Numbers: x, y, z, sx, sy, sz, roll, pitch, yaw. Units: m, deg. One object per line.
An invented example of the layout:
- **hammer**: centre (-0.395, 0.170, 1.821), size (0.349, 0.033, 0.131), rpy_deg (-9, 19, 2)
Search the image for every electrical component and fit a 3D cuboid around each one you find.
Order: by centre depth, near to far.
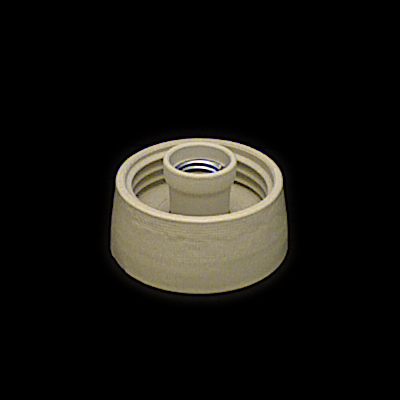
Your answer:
- **electrical component**: centre (0.000, 0.000, 0.640), size (0.108, 0.061, 0.106), rpy_deg (1, 32, 0)
